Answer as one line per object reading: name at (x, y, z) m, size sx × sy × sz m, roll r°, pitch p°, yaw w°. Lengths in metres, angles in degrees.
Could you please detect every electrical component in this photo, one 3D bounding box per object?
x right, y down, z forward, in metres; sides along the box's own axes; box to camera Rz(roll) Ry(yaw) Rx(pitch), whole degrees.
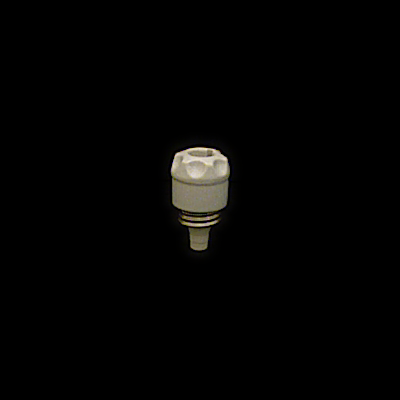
electrical component at (0.000, 0.000, 0.647) m, size 0.035 × 0.062 × 0.034 m, roll 1°, pitch 22°, yaw 0°
